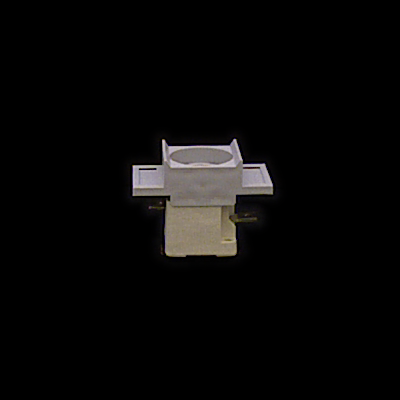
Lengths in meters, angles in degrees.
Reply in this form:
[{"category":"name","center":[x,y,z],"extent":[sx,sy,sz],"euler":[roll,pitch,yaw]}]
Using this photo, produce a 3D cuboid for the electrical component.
[{"category":"electrical component","center":[0.000,0.000,0.639],"extent":[0.081,0.064,0.041],"euler":[-1,20,-3]}]
